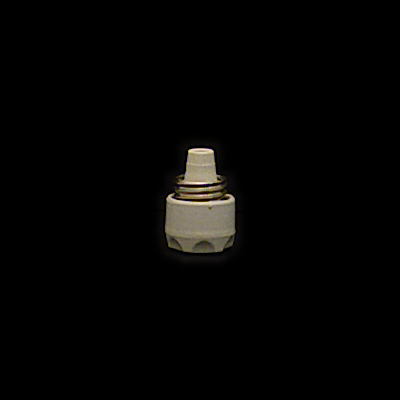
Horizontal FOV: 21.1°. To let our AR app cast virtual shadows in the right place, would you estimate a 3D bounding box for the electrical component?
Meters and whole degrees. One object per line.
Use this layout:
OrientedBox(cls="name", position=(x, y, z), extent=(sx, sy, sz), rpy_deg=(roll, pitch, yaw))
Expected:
OrientedBox(cls="electrical component", position=(0.000, 0.000, 0.650), extent=(0.043, 0.062, 0.043), rpy_deg=(0, 13, 0))
